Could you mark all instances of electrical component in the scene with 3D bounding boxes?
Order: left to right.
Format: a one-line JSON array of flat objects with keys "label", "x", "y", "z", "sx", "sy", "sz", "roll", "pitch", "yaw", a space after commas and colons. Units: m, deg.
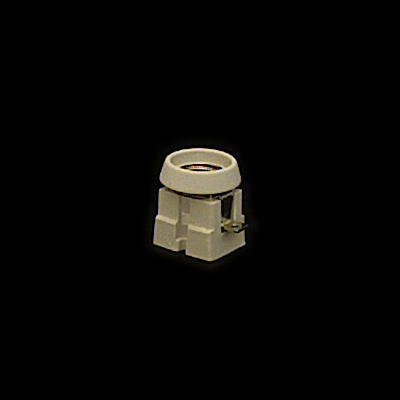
[{"label": "electrical component", "x": 0.000, "y": 0.000, "z": 0.647, "sx": 0.065, "sy": 0.056, "sz": 0.048, "roll": 16, "pitch": 28, "yaw": 32}]
